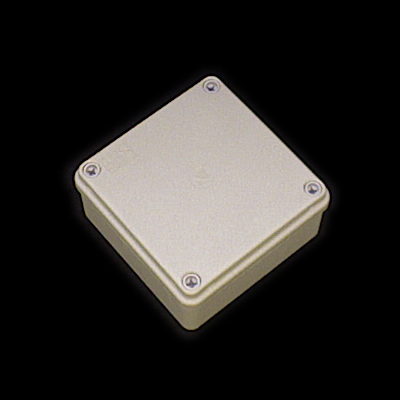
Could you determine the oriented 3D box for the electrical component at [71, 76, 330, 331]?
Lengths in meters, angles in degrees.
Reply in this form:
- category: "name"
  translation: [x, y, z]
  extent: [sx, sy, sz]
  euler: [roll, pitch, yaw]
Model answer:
- category: "electrical component"
  translation: [0.000, 0.000, 0.629]
  extent: [0.109, 0.108, 0.056]
  euler: [-36, -21, -17]
